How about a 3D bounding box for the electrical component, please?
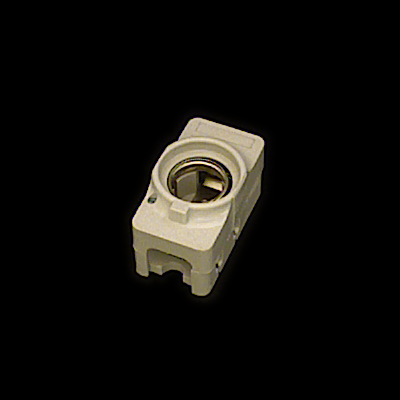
[{"bbox_3d":[0.000,0.000,0.637,0.050,0.089,0.056,18,-35,13],"label":"electrical component"}]
